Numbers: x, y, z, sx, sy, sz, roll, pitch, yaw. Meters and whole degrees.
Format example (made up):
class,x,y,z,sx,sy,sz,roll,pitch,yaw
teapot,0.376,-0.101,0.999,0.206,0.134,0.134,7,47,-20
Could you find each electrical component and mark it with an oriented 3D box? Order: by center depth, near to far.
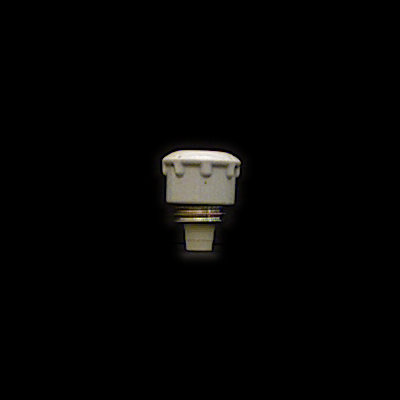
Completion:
class,x,y,z,sx,sy,sz,roll,pitch,yaw
electrical component,0.000,0.000,0.659,0.048,0.062,0.048,1,2,1
